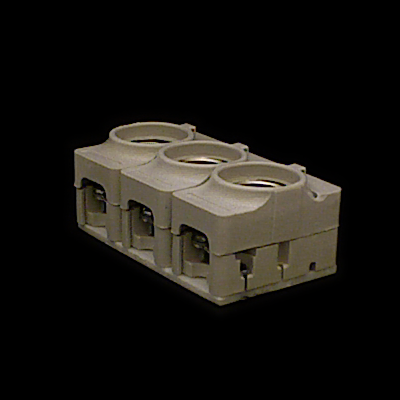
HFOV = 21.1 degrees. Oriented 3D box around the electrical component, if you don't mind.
[{"bbox_3d":[0.000,0.000,0.646,0.089,0.063,0.148,-14,26,-36],"label":"electrical component"}]
